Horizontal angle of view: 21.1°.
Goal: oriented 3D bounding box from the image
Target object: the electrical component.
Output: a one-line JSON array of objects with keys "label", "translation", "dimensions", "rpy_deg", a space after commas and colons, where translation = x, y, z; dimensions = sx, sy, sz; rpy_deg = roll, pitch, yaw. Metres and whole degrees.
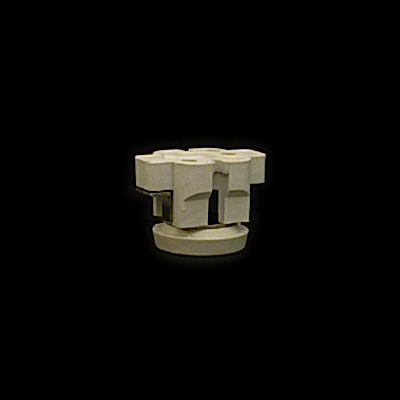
[{"label": "electrical component", "translation": [0.000, 0.000, 0.649], "dimensions": [0.079, 0.057, 0.057], "rpy_deg": [-6, 14, -27]}]
